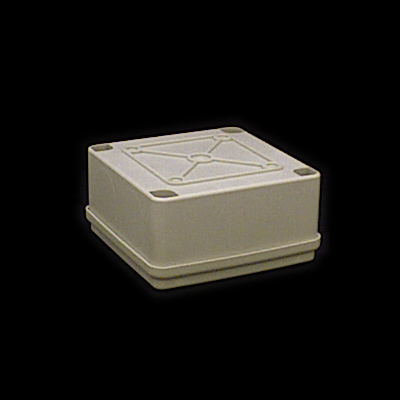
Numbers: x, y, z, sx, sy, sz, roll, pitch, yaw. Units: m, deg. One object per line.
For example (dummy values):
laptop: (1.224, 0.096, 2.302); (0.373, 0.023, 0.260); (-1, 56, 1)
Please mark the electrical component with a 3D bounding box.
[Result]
electrical component: (0.000, 0.000, 0.636); (0.109, 0.057, 0.107); (-10, 23, -25)
